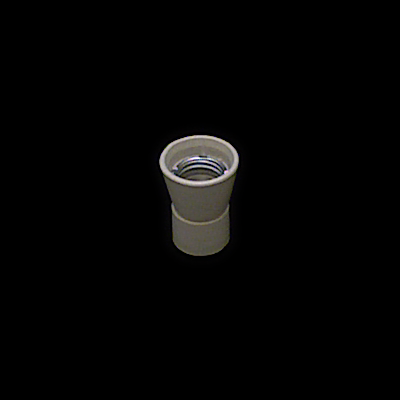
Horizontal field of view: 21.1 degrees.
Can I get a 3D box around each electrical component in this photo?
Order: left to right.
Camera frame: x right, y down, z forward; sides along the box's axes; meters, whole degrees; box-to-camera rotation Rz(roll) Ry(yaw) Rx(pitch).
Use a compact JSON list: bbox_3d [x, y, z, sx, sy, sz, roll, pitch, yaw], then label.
[{"bbox_3d":[0.000,0.000,0.629,0.044,0.066,0.044,0,42,1],"label":"electrical component"}]
